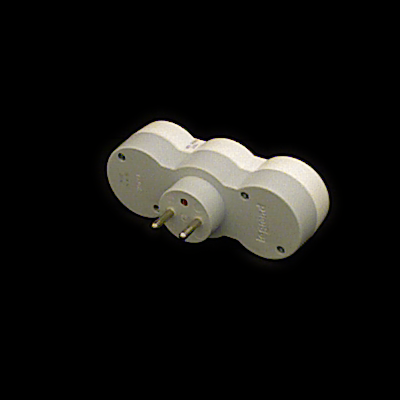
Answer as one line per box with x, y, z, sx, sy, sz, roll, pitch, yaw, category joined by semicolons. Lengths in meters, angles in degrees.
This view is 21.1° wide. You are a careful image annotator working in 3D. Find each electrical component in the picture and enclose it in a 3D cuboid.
0.000;0.000;0.642;0.136;0.053;0.074;18;38;25;electrical component
